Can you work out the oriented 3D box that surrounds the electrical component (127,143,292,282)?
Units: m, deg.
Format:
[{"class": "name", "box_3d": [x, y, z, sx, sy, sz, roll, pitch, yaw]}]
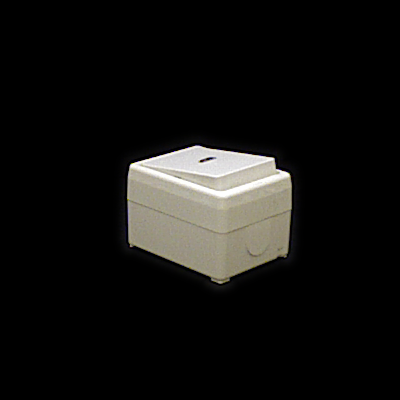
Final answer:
[{"class": "electrical component", "box_3d": [0.000, 0.000, 0.640, 0.095, 0.061, 0.061, 20, 28, 40]}]
